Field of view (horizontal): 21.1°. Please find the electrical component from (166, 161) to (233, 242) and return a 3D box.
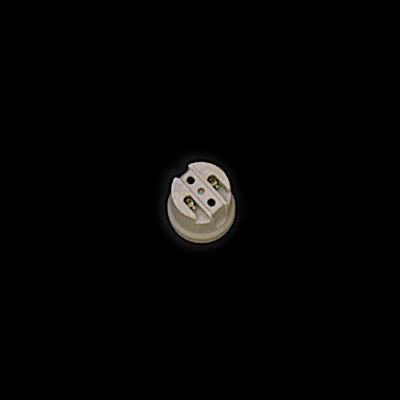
[{"bbox_3d":[0.000,0.000,0.632,0.040,0.040,0.046,0,-16,1],"label":"electrical component"}]
